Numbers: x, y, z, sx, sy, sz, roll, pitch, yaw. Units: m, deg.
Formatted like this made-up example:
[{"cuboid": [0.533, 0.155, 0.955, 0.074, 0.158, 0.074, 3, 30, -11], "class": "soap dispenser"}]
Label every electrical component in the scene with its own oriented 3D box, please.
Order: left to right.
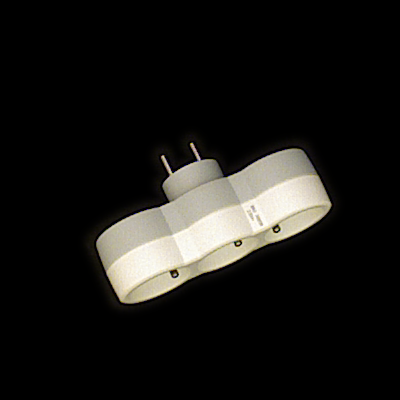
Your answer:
[{"cuboid": [0.000, 0.000, 0.639, 0.138, 0.073, 0.052, -24, -17, -7], "class": "electrical component"}]
